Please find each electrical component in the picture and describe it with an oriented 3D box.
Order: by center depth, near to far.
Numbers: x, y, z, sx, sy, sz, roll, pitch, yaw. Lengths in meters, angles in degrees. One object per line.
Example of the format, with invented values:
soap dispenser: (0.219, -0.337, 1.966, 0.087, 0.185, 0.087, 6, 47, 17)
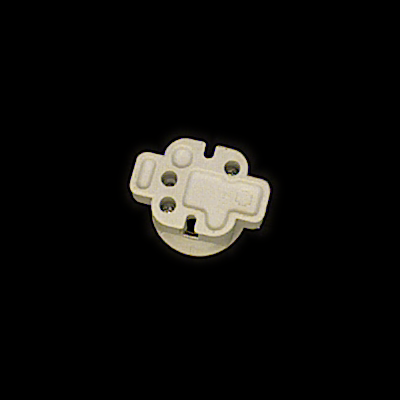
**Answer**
electrical component: (0.000, 0.000, 0.636, 0.078, 0.058, 0.056, 13, -17, 2)
